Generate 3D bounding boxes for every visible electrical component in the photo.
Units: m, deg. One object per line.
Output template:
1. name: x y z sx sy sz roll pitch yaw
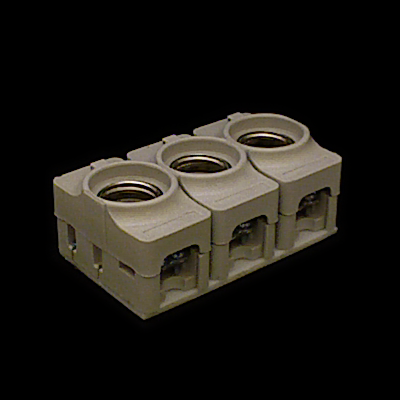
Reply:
1. electrical component: 0.000 0.000 0.641 0.149 0.063 0.088 -22 37 -34
